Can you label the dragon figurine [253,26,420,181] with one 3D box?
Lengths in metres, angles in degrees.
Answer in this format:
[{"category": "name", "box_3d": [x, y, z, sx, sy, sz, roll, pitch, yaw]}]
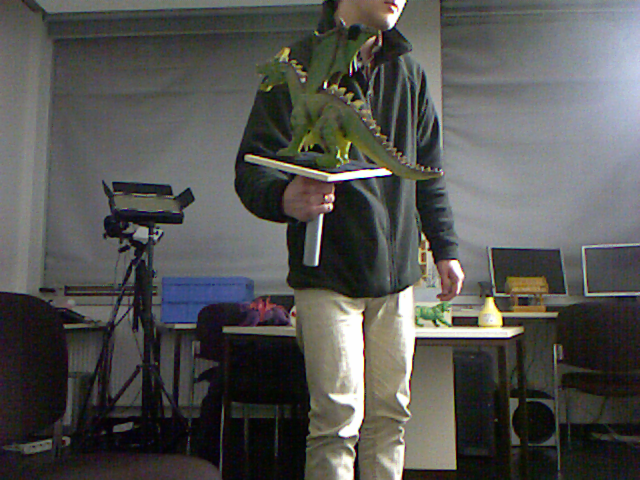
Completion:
[{"category": "dragon figurine", "box_3d": [0.029, -0.264, 0.939, 0.414, 0.240, 0.123, 21, 21, 35]}]
